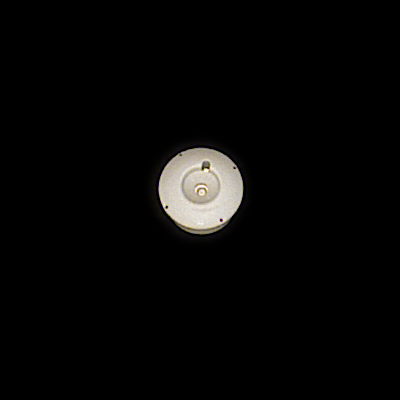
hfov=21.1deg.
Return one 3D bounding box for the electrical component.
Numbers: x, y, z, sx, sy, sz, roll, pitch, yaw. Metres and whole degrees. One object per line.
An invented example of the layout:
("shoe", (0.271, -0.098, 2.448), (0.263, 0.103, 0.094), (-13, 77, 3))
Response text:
("electrical component", (0.000, 0.000, 0.633), (0.048, 0.048, 0.061), (0, -16, 1))
